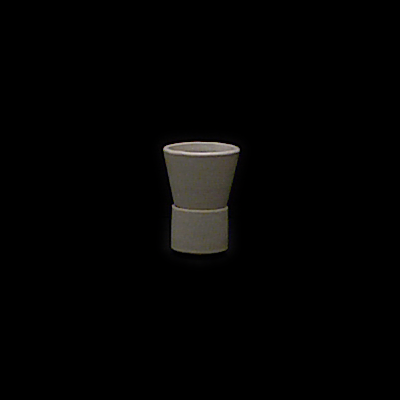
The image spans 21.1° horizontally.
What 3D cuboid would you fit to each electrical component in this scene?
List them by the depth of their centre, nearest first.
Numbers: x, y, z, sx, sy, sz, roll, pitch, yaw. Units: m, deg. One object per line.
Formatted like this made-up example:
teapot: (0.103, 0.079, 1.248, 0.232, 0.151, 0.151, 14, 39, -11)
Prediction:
electrical component: (0.000, 0.000, 0.642, 0.044, 0.066, 0.044, 1, 12, 0)
